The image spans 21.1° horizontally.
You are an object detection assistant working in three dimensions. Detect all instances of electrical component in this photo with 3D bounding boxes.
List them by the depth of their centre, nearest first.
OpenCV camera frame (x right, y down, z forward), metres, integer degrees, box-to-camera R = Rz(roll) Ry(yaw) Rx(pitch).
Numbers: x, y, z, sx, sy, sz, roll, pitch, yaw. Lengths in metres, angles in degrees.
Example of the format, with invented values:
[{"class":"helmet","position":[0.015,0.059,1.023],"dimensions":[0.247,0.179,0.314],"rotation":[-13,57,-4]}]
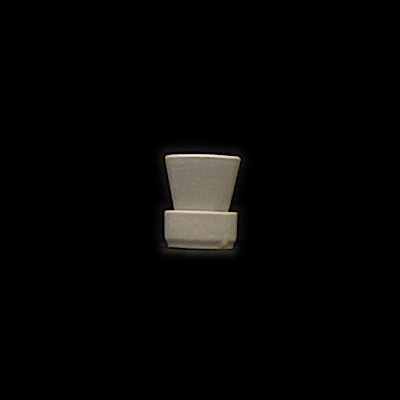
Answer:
[{"class":"electrical component","position":[0.000,0.000,0.652],"dimensions":[0.045,0.055,0.045],"rotation":[2,1,0]}]
